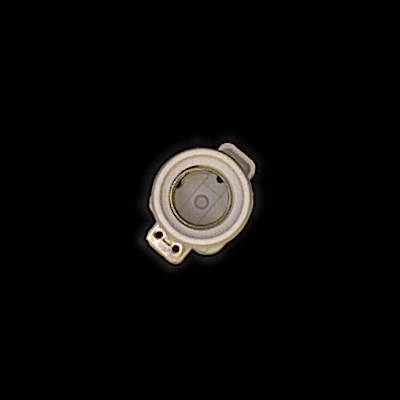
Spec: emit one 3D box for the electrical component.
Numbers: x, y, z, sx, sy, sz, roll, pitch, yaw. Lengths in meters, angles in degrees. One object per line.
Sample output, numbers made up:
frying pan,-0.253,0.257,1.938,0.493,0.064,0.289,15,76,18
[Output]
electrical component,0.000,0.000,0.629,0.058,0.079,0.056,40,-5,4
